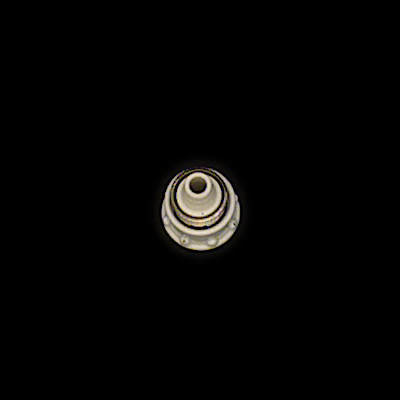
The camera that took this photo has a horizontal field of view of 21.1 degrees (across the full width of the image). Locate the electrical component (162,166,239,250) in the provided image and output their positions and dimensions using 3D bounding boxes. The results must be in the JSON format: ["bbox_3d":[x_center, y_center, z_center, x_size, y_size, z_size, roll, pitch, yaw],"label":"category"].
[{"bbox_3d":[0.000,0.000,0.634,0.048,0.048,0.061,0,-17,1],"label":"electrical component"}]
